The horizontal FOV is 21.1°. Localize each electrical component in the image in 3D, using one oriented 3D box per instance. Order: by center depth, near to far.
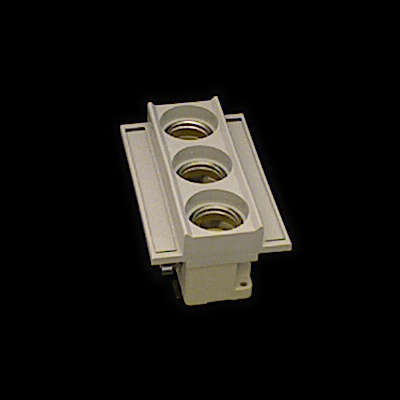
[{"bbox_3d":[0.000,0.000,0.643,0.079,0.064,0.119,-6,43,-9],"label":"electrical component"}]
